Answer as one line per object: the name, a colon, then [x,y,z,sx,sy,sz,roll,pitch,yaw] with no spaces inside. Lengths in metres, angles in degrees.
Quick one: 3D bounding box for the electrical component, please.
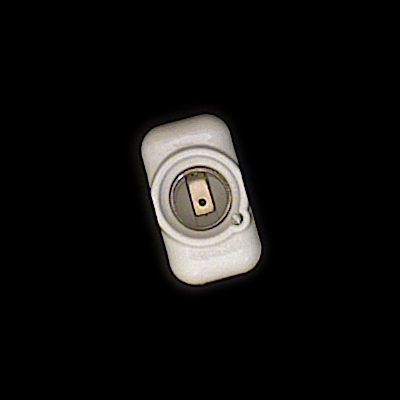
electrical component: [0.000,0.000,0.635,0.054,0.095,0.059,-15,-5,0]
